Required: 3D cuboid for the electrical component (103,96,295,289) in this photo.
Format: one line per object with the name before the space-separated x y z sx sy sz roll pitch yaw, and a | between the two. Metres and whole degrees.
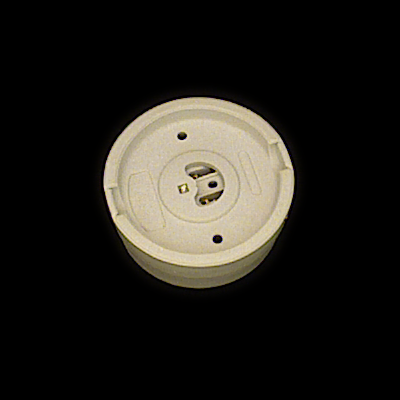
electrical component | 0.000 0.000 0.632 0.108 0.108 0.060 0 -27 -1
